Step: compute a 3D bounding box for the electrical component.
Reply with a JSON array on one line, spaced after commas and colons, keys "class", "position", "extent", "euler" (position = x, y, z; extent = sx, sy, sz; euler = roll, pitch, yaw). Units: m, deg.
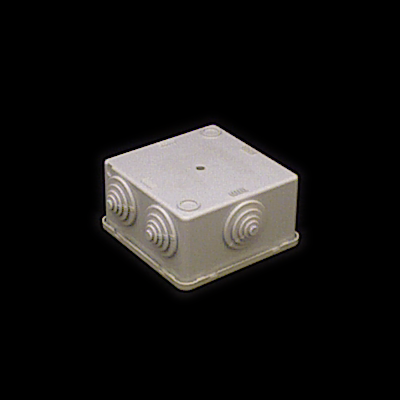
[{"class": "electrical component", "position": [0.000, 0.000, 0.638], "extent": [0.100, 0.049, 0.098], "euler": [-21, 38, -31]}]
